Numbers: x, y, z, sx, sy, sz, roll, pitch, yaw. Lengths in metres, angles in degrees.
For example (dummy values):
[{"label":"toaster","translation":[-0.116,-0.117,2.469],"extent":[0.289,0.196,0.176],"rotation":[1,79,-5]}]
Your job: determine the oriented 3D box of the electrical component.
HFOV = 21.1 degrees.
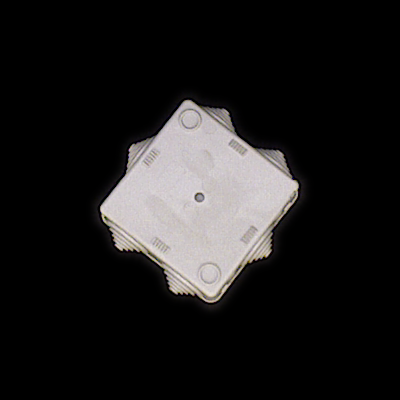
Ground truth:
[{"label":"electrical component","translation":[0.000,0.000,0.632],"extent":[0.100,0.100,0.048],"rotation":[38,-5,4]}]
